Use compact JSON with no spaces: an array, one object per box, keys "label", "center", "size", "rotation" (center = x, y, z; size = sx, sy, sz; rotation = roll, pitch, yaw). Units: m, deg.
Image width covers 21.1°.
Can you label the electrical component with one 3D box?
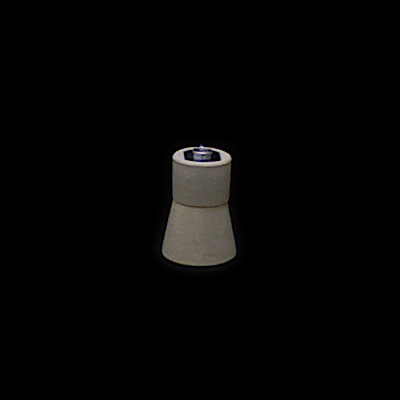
[{"label":"electrical component","center":[0.000,0.000,0.637],"size":[0.044,0.066,0.044],"rotation":[2,21,-1]}]
